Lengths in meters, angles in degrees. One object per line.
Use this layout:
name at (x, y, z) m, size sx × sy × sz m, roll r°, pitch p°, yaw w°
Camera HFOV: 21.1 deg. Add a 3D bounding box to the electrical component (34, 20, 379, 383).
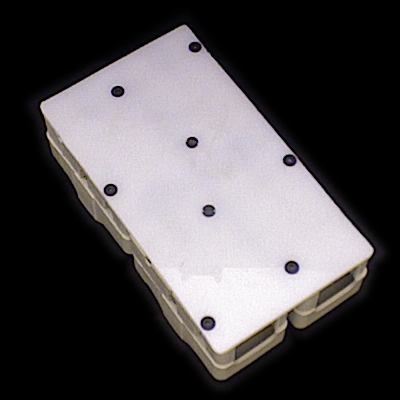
electrical component at (0.000, 0.000, 0.625) m, size 0.106 × 0.186 × 0.060 m, roll -32°, pitch -22°, yaw -15°
